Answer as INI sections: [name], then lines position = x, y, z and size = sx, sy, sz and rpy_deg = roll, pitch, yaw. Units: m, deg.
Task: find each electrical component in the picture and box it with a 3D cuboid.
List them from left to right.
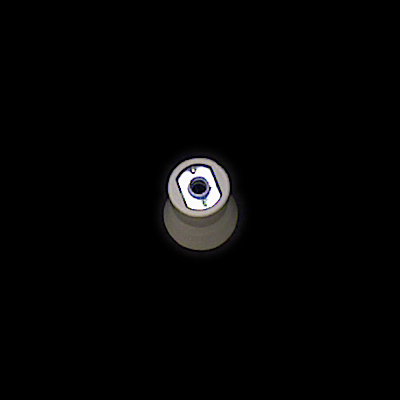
[electrical component]
position = 0.000, 0.000, 0.624
size = 0.044, 0.044, 0.065
rpy_deg = 0, -16, 1
